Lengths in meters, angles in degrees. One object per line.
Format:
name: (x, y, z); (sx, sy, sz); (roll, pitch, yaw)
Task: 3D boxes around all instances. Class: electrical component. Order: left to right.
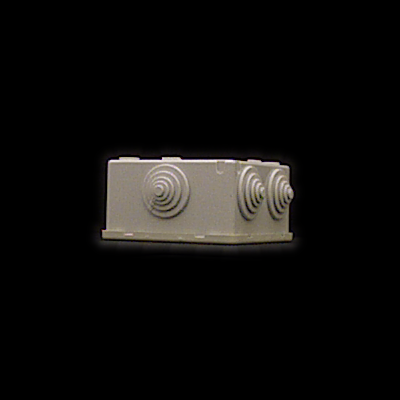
electrical component: (0.000, 0.000, 0.648); (0.099, 0.048, 0.100); (1, 0, 27)
